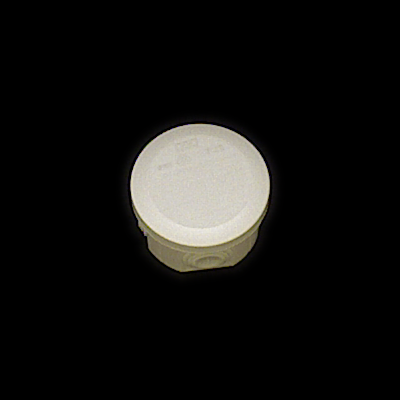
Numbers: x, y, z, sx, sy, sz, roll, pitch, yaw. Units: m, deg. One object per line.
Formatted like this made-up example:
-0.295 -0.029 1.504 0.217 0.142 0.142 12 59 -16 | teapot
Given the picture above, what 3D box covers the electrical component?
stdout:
0.000 0.000 0.631 0.080 0.080 0.050 0 -27 -1 | electrical component
